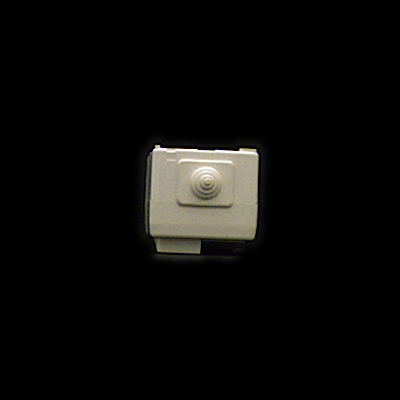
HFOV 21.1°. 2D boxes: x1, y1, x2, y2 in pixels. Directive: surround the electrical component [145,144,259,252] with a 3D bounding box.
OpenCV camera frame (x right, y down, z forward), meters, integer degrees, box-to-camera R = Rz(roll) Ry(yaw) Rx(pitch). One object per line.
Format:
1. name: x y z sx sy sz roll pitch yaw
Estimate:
1. electrical component: 0.000 0.000 0.642 0.062 0.061 0.096 2 -1 -5
